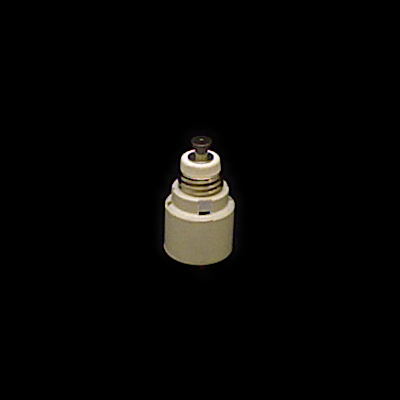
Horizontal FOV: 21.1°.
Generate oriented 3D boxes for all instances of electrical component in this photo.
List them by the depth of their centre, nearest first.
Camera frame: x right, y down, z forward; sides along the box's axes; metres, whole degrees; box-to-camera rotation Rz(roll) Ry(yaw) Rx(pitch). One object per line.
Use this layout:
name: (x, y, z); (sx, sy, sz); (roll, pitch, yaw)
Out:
electrical component: (0.000, 0.000, 0.629); (0.040, 0.079, 0.039); (2, 31, -1)
